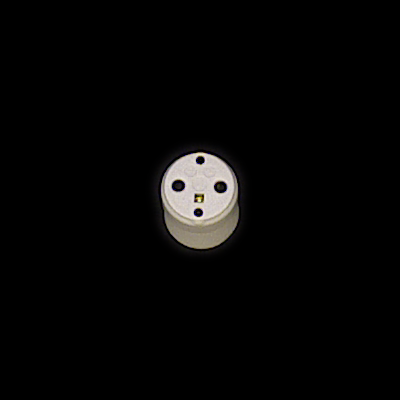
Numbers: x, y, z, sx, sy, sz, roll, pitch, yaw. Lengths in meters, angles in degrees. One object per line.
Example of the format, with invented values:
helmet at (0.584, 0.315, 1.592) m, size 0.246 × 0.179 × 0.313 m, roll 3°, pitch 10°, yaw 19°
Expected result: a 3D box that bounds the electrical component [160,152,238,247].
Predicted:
electrical component at (0.000, 0.000, 0.629) m, size 0.045 × 0.045 × 0.055 m, roll 0°, pitch -17°, yaw 1°
